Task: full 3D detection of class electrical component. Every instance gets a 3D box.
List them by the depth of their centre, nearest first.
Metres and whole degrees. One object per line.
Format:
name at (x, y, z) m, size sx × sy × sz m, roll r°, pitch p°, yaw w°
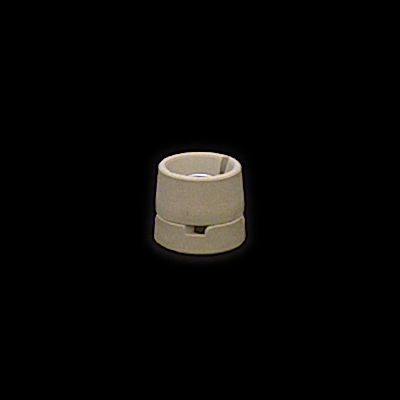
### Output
electrical component at (0.000, 0.000, 0.640) m, size 0.055 × 0.047 × 0.055 m, roll 0°, pitch 21°, yaw 0°
